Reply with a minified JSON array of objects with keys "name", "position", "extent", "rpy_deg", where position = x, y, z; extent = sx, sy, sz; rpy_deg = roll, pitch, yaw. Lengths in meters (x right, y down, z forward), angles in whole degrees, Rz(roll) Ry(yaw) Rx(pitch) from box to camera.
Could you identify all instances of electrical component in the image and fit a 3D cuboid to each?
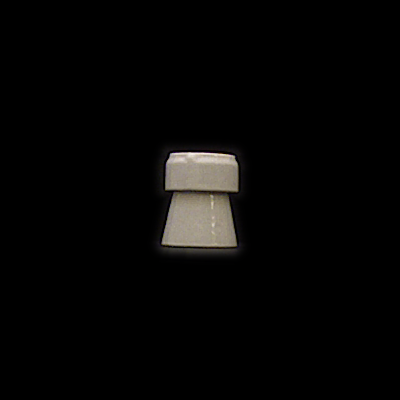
[{"name":"electrical component","position":[0.000,0.000,0.649],"extent":[0.045,0.055,0.044],"rpy_deg":[1,2,0]}]
